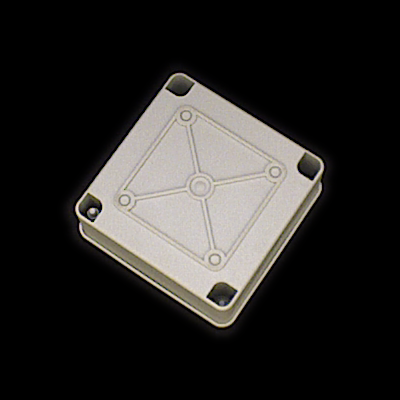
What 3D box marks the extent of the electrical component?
[{"bbox_3d":[0.000,0.000,0.627,0.108,0.109,0.056,33,-14,10],"label":"electrical component"}]
